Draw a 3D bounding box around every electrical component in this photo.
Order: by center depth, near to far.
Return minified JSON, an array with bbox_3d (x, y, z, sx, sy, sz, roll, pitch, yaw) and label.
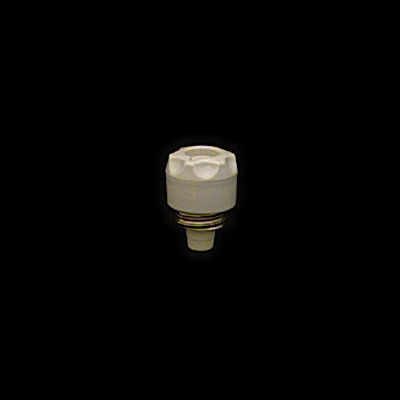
[{"bbox_3d":[0.000,0.000,0.647,0.043,0.063,0.043,1,21,0],"label":"electrical component"}]
